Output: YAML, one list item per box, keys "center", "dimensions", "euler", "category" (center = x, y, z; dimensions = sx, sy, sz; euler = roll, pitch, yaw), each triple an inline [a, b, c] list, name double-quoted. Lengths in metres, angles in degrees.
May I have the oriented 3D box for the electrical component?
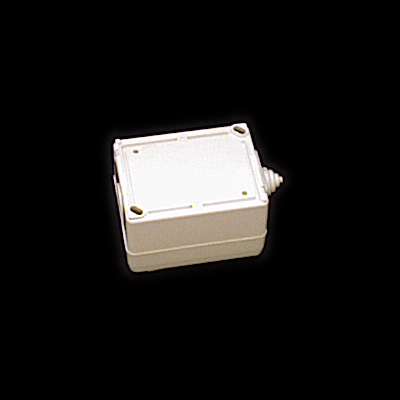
- center: [0.000, 0.000, 0.628]
  dimensions: [0.096, 0.061, 0.061]
  euler: [-8, -37, -7]
  category: "electrical component"
